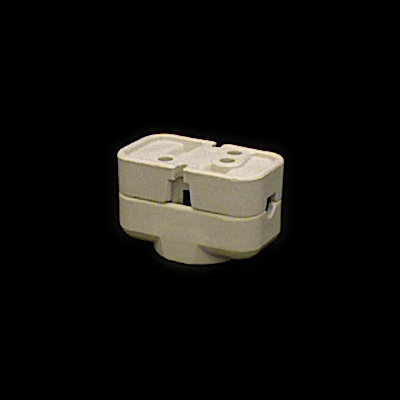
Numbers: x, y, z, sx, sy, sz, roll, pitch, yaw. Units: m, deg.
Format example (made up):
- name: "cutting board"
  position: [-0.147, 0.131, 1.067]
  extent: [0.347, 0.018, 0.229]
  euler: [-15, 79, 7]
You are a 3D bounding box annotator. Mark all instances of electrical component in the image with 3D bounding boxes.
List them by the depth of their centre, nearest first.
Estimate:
- name: "electrical component"
  position: [0.000, 0.000, 0.648]
  extent: [0.094, 0.060, 0.053]
  euler: [11, 24, 25]
